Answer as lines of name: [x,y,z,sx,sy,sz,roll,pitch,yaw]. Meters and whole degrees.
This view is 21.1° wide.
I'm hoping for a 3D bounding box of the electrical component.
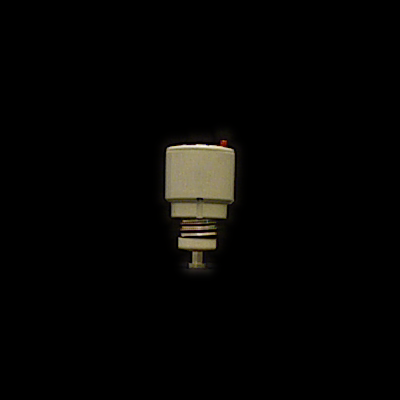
electrical component: [0.000,0.000,0.649,0.040,0.078,0.040,2,1,0]
